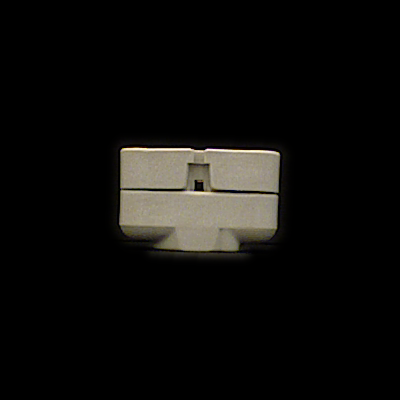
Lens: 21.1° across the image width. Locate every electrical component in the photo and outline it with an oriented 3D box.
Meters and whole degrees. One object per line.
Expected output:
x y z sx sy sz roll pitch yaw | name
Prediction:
0.000 0.000 0.654 0.095 0.059 0.053 2 1 2 | electrical component
